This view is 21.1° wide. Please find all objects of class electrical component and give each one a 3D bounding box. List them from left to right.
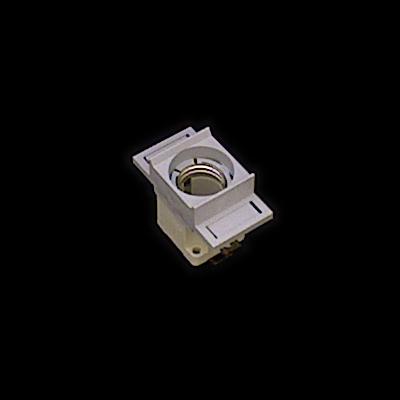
[{"bbox_3d":[0.000,0.000,0.625,0.042,0.080,0.064,-28,-33,-22],"label":"electrical component"}]
